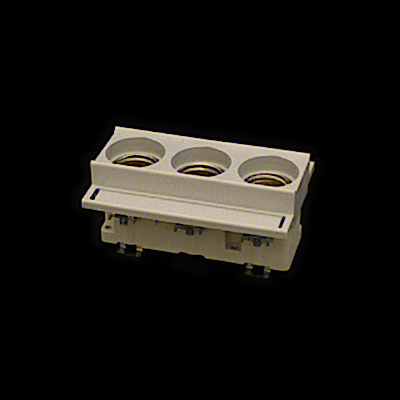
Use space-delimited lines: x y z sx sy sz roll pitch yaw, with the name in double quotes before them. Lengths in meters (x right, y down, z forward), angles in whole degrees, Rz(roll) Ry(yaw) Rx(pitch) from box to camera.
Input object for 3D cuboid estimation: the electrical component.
"electrical component" 0.000 0.000 0.645 0.121 0.064 0.077 9 34 13
